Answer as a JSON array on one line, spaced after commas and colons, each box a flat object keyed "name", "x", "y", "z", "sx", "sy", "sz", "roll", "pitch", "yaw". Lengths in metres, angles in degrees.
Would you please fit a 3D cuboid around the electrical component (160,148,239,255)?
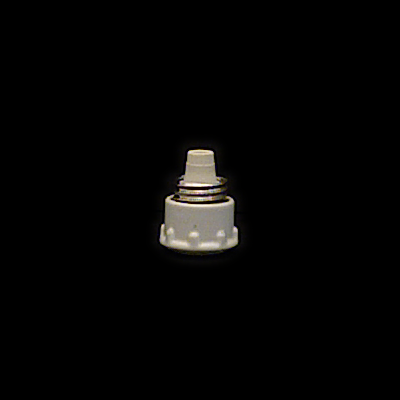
[{"name": "electrical component", "x": 0.000, "y": 0.000, "z": 0.649, "sx": 0.048, "sy": 0.062, "sz": 0.047, "roll": 1, "pitch": 13, "yaw": 0}]
